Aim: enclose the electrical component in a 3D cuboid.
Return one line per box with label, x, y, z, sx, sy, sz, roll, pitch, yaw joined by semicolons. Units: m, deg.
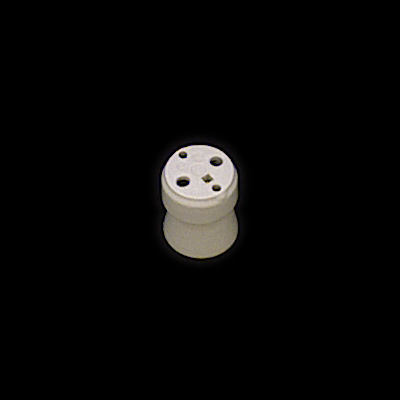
electrical component;0.000;0.000;0.629;0.045;0.044;0.055;0;-38;0
